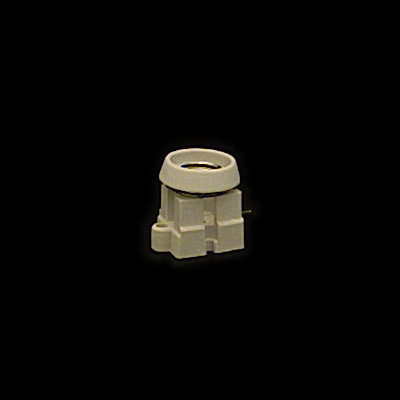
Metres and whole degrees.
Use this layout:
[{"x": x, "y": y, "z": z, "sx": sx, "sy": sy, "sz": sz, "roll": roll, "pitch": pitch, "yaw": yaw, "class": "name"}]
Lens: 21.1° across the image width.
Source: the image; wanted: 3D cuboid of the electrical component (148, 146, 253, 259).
[{"x": 0.000, "y": 0.000, "z": 0.648, "sx": 0.067, "sy": 0.056, "sz": 0.047, "roll": -9, "pitch": 26, "yaw": -23, "class": "electrical component"}]
